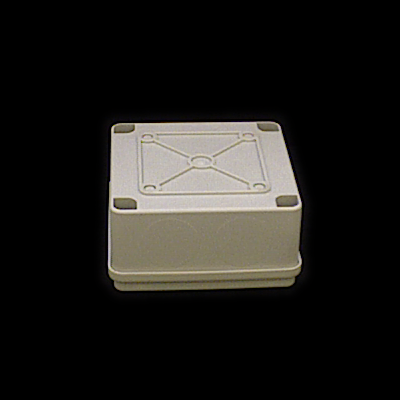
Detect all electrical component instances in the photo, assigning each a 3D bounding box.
[{"bbox_3d":[0.000,0.000,0.635,0.109,0.057,0.107,-1,32,-4],"label":"electrical component"}]
